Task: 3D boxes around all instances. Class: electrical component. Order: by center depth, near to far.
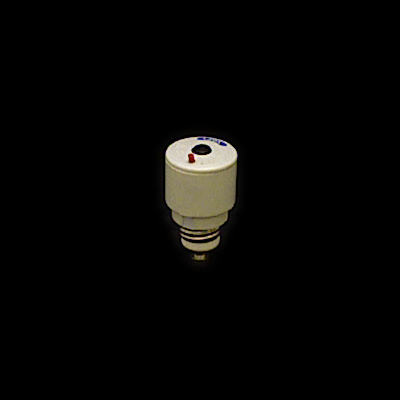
[{"bbox_3d":[0.000,0.000,0.628,0.040,0.079,0.039,1,32,0],"label":"electrical component"}]
